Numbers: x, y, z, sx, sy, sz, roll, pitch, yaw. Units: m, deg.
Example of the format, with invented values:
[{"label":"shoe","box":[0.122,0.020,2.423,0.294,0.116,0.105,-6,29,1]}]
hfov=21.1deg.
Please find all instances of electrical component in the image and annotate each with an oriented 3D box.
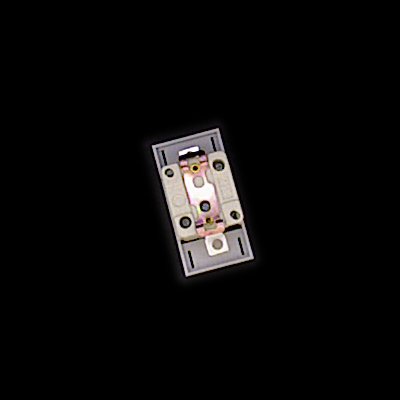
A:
[{"label":"electrical component","box":[0.000,0.000,0.626,0.042,0.081,0.063,-15,-6,-1]}]
